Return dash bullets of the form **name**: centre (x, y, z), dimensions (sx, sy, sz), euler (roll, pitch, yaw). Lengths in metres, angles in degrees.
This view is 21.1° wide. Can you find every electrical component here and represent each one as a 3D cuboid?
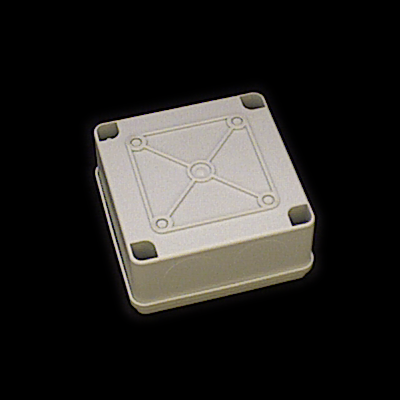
- **electrical component**: centre (0.000, 0.000, 0.629), dimensions (0.109, 0.108, 0.056), euler (-12, -37, -9)
